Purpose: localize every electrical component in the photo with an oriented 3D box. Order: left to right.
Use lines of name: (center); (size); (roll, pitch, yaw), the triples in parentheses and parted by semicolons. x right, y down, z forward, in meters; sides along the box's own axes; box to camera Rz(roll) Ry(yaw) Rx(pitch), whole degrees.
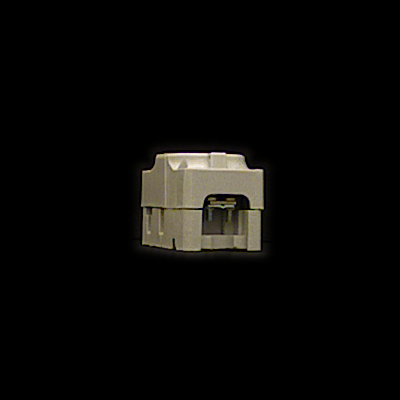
electrical component: (0.000, 0.000, 0.656); (0.050, 0.056, 0.089); (1, 1, -21)
